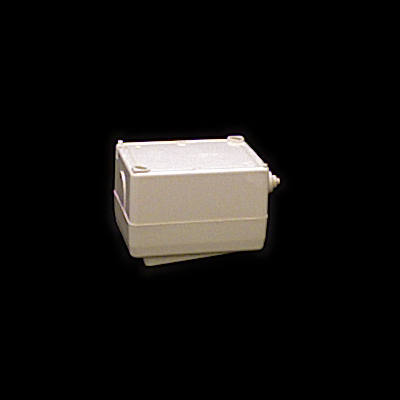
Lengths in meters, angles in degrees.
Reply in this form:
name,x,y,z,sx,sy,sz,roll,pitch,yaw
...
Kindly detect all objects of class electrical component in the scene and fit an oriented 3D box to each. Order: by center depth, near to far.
name,x,y,z,sx,sy,sz,roll,pitch,yaw
electrical component,0.000,0.000,0.637,0.096,0.061,0.061,-3,21,-13
